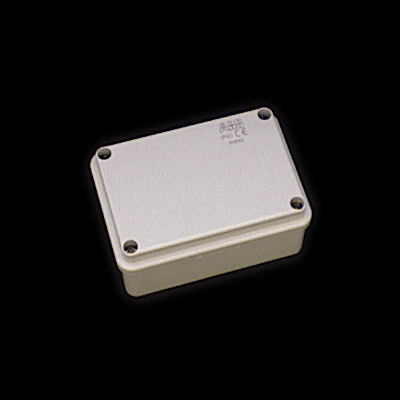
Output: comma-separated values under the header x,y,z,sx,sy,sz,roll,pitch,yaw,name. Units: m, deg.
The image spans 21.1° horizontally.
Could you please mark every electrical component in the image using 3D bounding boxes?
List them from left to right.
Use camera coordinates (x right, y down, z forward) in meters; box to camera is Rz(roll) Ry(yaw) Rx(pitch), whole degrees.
x,y,z,sx,sy,sz,roll,pitch,yaw,name
0.000,0.000,0.628,0.113,0.078,0.057,-15,-26,-8,electrical component
